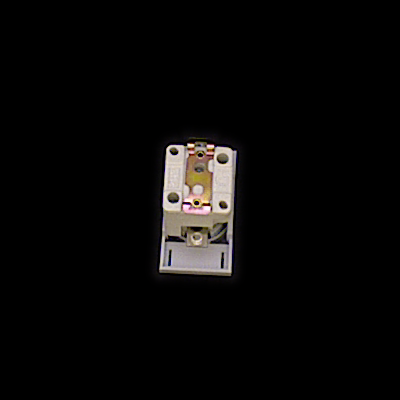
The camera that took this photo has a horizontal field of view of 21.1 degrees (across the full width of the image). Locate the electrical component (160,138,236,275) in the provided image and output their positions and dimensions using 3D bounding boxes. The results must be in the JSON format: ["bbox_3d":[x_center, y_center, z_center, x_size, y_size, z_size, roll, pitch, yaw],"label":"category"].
[{"bbox_3d":[0.000,0.000,0.625,0.042,0.081,0.063,2,-27,1],"label":"electrical component"}]
